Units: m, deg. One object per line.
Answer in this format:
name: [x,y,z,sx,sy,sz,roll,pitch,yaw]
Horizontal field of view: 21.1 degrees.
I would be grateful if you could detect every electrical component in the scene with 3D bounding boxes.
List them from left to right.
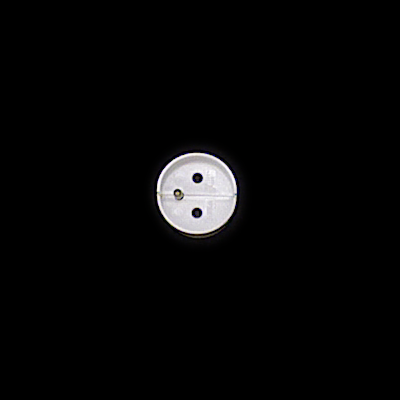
electrical component: [0.000,0.000,0.615,0.043,0.043,0.080,0,-7,1]
